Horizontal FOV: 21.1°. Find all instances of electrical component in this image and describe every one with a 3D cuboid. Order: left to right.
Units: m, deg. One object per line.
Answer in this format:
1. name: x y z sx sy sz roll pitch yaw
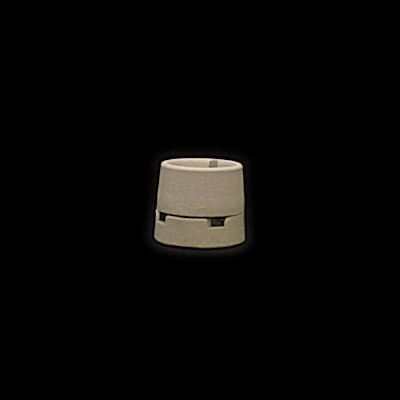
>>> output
1. electrical component: 0.000 0.000 0.647 0.055 0.047 0.055 2 10 0
